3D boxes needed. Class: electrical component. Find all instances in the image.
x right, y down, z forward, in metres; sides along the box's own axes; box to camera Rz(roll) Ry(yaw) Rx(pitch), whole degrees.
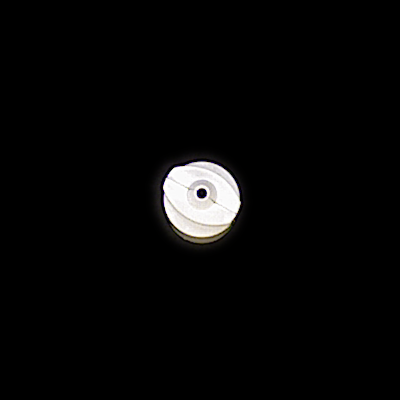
[{"bbox_3d":[0.000,0.000,0.616,0.043,0.043,0.080,0,-6,1],"label":"electrical component"}]
